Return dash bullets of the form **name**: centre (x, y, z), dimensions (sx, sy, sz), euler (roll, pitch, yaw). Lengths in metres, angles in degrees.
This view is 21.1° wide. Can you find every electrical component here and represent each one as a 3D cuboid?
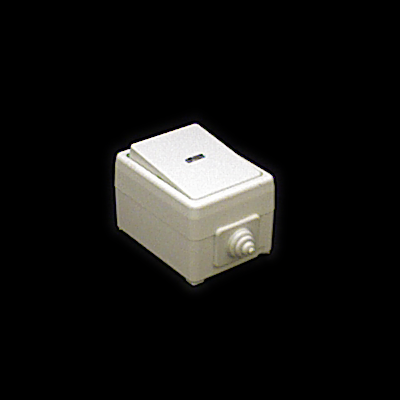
- **electrical component**: centre (0.000, 0.000, 0.632), dimensions (0.061, 0.061, 0.095), euler (-21, 38, -32)
